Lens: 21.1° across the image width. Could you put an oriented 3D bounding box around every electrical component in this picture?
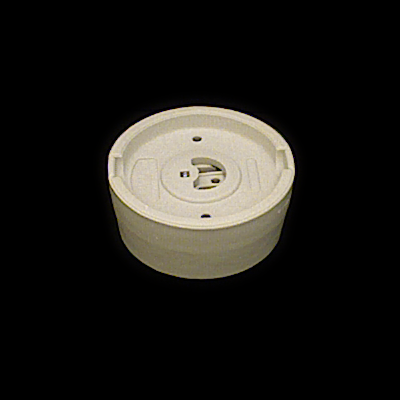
[{"bbox_3d":[0.000,0.000,0.635,0.108,0.061,0.107,1,43,0],"label":"electrical component"}]
